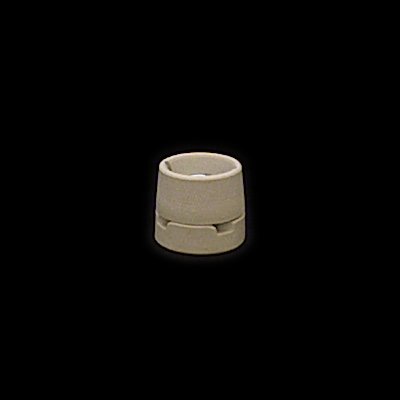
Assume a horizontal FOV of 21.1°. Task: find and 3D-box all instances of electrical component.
[{"bbox_3d":[0.000,0.000,0.642,0.055,0.047,0.055,0,21,0],"label":"electrical component"}]
